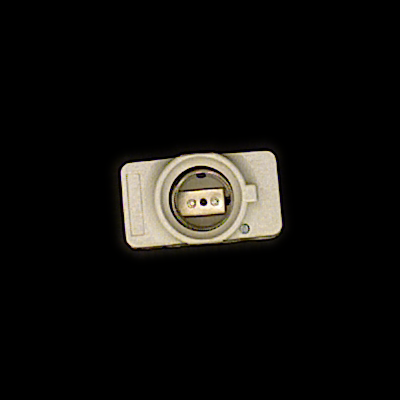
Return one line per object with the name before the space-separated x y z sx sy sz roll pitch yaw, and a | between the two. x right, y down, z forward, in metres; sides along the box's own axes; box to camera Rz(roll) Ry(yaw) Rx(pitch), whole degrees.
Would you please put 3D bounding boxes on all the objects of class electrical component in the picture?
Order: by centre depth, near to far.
electrical component | 0.000 0.000 0.637 0.089 0.050 0.055 -5 -5 0
